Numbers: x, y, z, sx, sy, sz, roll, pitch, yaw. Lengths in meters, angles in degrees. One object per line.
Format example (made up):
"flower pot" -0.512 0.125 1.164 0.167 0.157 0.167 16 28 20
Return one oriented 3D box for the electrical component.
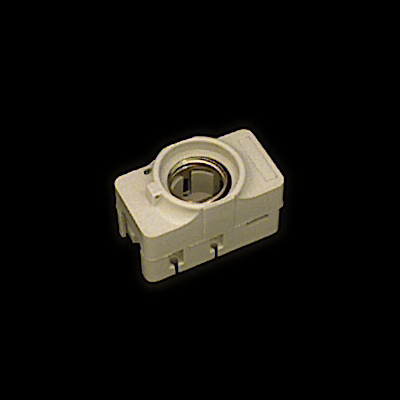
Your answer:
"electrical component" 0.000 0.000 0.637 0.090 0.050 0.056 -22 -34 -17
